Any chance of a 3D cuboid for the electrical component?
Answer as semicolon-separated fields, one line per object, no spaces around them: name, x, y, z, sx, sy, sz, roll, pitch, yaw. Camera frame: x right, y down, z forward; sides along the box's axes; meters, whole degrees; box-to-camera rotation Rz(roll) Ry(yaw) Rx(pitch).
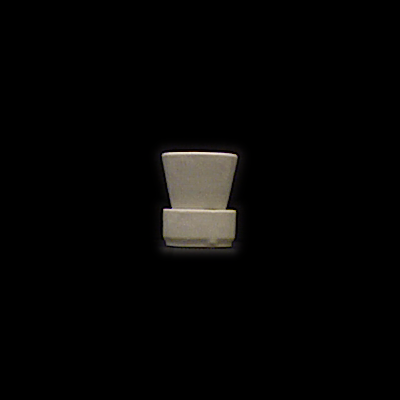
electrical component;0.000;0.000;0.647;0.045;0.055;0.045;0;1;0
